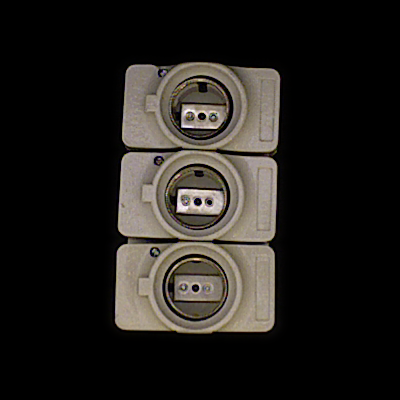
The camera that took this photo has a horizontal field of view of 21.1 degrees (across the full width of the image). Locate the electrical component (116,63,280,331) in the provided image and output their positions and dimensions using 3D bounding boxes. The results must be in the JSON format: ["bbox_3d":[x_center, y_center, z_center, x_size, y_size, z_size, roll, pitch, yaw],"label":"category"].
[{"bbox_3d":[0.000,0.000,0.632,0.089,0.150,0.061,2,-7,1],"label":"electrical component"}]
